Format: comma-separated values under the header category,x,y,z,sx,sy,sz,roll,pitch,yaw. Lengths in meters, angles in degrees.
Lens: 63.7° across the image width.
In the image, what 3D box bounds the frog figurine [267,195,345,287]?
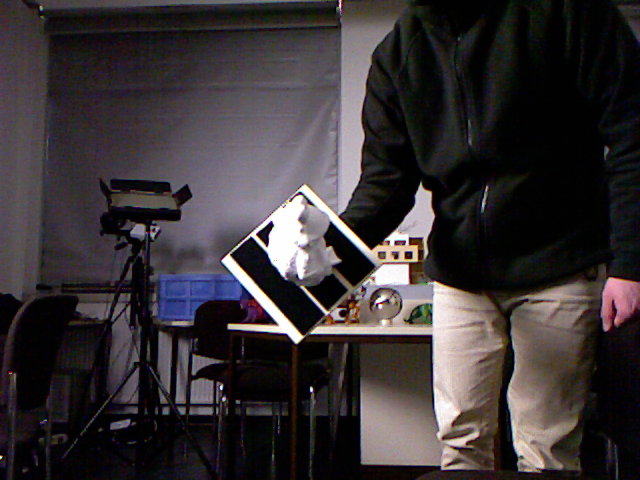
category,x,y,z,sx,sy,sz,roll,pitch,yaw
frog figurine,-0.032,0.004,0.822,0.123,0.139,0.158,-24,-18,2
